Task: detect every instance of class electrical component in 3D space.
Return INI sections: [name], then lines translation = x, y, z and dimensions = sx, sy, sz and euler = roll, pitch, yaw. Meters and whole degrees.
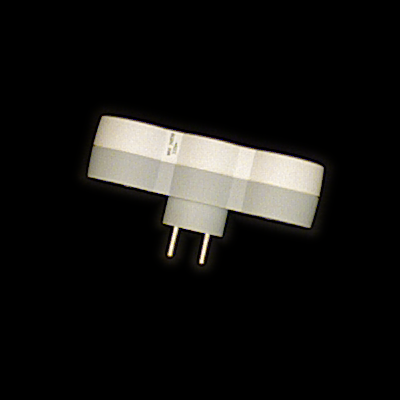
[electrical component]
translation = 0.000, 0.000, 0.639
dimensions = 0.138, 0.074, 0.052
euler = 13, -4, 1
